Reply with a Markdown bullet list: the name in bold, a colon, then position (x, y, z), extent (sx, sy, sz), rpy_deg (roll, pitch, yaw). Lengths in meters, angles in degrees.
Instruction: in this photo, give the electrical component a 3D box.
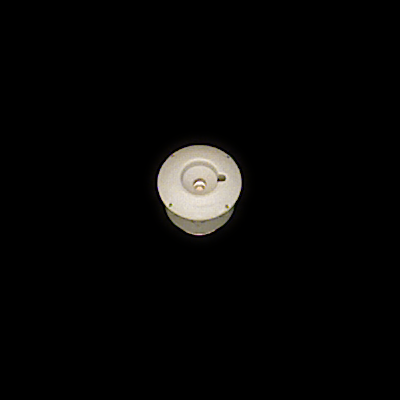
- **electrical component**: position (0.000, 0.000, 0.635), extent (0.048, 0.048, 0.062), rpy_deg (0, -27, 0)
